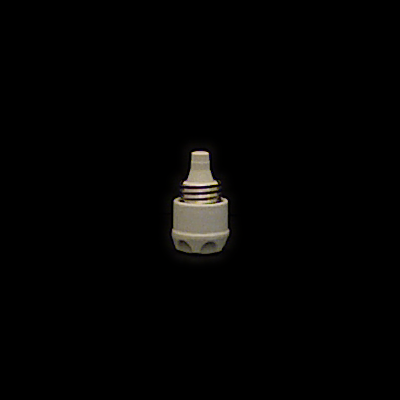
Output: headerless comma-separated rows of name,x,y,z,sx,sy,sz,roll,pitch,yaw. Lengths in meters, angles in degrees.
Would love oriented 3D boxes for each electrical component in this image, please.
electrical component,0.000,0.000,0.656,0.035,0.062,0.035,-1,12,0
